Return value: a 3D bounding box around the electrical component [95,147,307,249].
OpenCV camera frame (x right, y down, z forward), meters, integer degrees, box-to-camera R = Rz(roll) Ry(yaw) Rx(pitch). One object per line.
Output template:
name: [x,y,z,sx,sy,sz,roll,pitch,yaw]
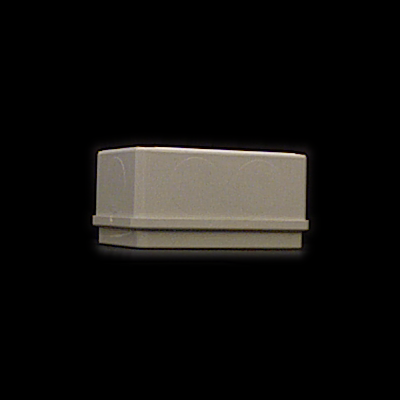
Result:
electrical component: [0.000,0.000,0.649,0.113,0.057,0.078,1,1,-25]
